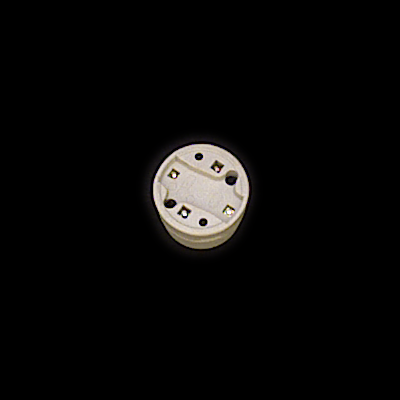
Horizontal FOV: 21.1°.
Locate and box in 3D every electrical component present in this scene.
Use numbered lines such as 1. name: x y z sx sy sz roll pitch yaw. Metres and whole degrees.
1. electrical component: 0.000 0.000 0.635 0.055 0.056 0.047 0 -17 0
